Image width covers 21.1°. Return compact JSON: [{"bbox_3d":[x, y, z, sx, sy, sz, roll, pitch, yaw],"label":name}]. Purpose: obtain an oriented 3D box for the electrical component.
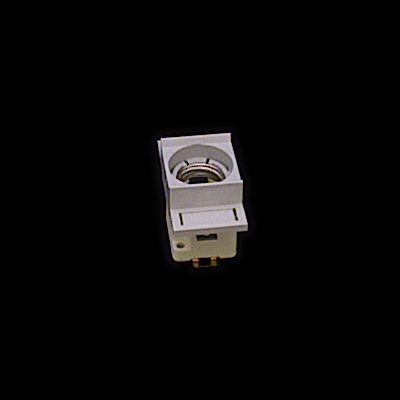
[{"bbox_3d":[0.000,0.000,0.631,0.042,0.064,0.080,-6,42,-5],"label":"electrical component"}]
